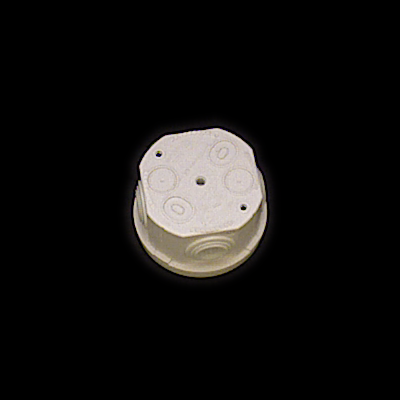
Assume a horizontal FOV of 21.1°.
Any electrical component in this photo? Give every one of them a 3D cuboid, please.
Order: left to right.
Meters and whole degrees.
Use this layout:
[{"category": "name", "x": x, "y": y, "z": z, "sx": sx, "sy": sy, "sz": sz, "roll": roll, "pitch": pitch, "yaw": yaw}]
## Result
[{"category": "electrical component", "x": 0.000, "y": 0.000, "z": 0.631, "sx": 0.080, "sy": 0.080, "sz": 0.050, "roll": 0, "pitch": -27, "yaw": -1}]
